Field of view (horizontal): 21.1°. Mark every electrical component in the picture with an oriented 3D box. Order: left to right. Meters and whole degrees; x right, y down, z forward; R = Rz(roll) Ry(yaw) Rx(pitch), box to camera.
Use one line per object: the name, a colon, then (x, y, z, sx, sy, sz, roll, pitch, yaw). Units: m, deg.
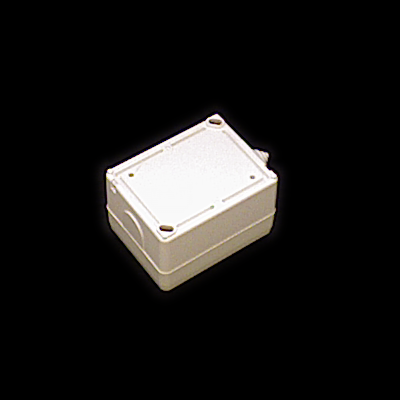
electrical component: (0.000, 0.000, 0.628, 0.096, 0.061, 0.061, -29, -33, -22)
